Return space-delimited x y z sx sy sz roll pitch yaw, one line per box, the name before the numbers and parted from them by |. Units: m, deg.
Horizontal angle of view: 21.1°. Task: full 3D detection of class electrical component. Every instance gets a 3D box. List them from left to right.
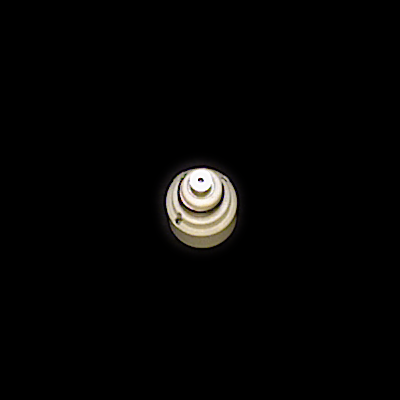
electrical component | 0.000 0.000 0.618 0.040 0.040 0.078 0 -16 1
